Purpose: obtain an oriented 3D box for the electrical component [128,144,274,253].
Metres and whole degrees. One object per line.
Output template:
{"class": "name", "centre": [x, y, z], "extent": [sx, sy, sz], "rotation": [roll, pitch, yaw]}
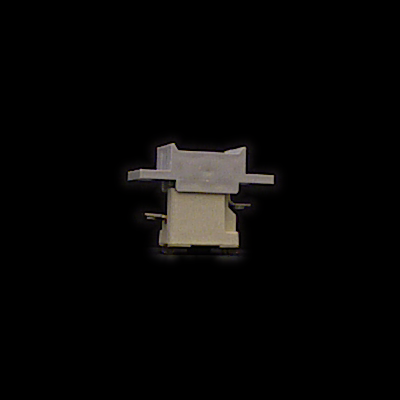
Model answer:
{"class": "electrical component", "centre": [0.000, 0.000, 0.648], "extent": [0.081, 0.064, 0.042], "rotation": [2, 2, -14]}
